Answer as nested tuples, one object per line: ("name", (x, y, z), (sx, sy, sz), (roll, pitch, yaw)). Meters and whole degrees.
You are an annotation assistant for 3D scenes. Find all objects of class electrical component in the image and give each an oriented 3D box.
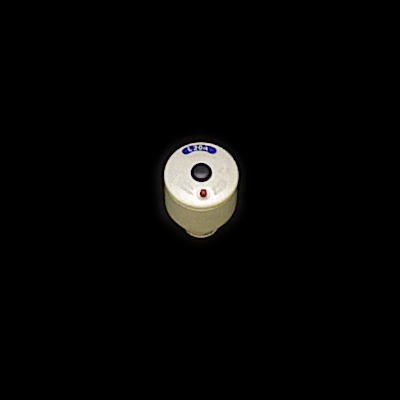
("electrical component", (0.000, 0.000, 0.616), (0.040, 0.040, 0.078), (0, -27, 0))
